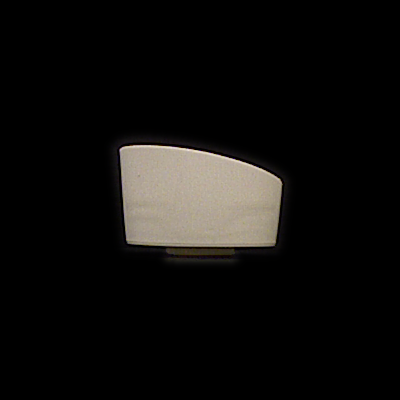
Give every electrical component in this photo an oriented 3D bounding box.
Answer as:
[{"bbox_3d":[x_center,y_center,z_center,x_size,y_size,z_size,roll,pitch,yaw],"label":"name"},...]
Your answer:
[{"bbox_3d":[0.000,0.000,0.648,0.099,0.064,0.099,1,1,0],"label":"electrical component"}]
